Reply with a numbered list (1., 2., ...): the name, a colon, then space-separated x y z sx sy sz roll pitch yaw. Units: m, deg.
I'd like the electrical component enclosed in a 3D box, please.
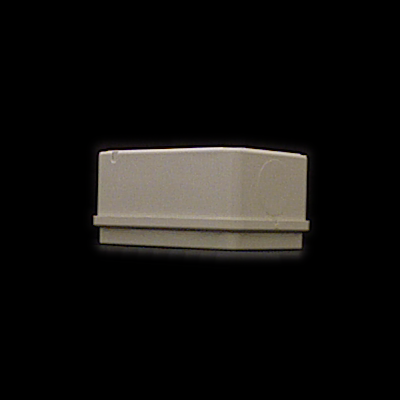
1. electrical component: 0.000 0.000 0.650 0.113 0.057 0.078 2 1 40
